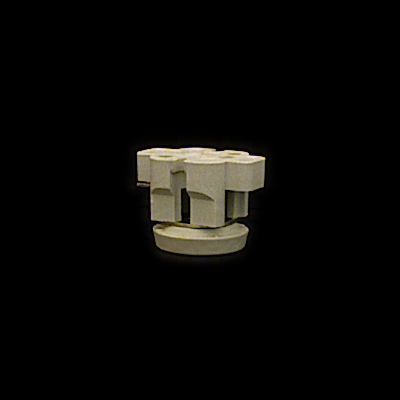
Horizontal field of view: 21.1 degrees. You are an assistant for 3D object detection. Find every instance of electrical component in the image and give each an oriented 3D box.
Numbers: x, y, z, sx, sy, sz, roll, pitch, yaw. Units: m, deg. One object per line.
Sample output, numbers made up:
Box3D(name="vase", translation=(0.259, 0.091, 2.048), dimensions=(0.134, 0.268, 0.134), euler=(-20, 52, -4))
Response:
Box3D(name="electrical component", translation=(0.000, 0.000, 0.650), dimensions=(0.078, 0.057, 0.058), euler=(5, 13, 27))
